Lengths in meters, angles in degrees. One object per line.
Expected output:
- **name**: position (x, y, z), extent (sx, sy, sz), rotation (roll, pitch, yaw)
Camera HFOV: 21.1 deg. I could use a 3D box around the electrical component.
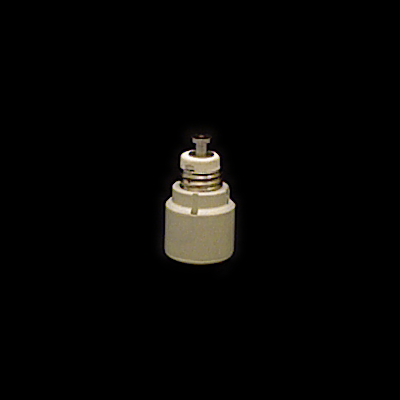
- **electrical component**: position (0.000, 0.000, 0.634), extent (0.040, 0.079, 0.039), rotation (1, 20, 0)
